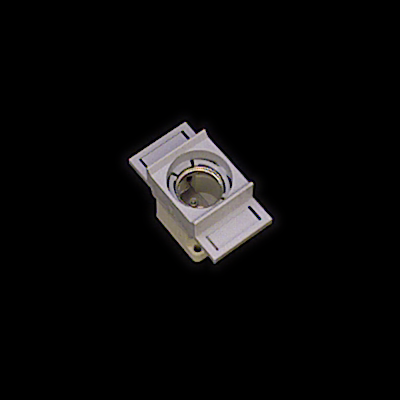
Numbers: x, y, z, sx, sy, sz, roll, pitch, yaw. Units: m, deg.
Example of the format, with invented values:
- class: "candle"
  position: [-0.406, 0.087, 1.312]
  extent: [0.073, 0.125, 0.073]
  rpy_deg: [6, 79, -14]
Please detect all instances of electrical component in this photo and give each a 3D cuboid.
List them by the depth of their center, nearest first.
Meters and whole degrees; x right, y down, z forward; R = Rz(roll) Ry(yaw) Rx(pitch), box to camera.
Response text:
- class: "electrical component"
  position: [0.000, 0.000, 0.625]
  extent: [0.042, 0.080, 0.064]
  rpy_deg: [-35, -21, -15]
